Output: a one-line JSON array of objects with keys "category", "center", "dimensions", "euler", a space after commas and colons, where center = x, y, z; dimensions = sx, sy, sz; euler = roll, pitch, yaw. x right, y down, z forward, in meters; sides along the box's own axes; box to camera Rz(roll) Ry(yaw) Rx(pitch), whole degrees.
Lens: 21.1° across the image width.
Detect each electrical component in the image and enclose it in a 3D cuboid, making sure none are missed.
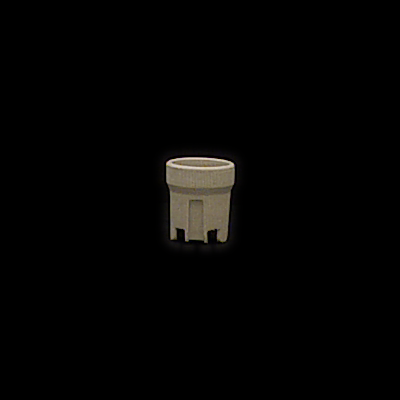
[{"category": "electrical component", "center": [0.000, 0.000, 0.642], "dimensions": [0.040, 0.046, 0.040], "euler": [1, 11, 0]}]
